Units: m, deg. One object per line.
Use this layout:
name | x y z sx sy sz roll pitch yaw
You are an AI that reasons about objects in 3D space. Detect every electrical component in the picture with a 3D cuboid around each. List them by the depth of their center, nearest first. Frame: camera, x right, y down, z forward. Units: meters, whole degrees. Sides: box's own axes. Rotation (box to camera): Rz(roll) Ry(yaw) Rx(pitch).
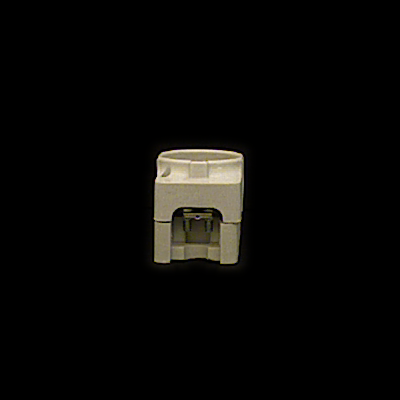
electrical component | 0.000 0.000 0.651 0.050 0.056 0.089 1 11 2
